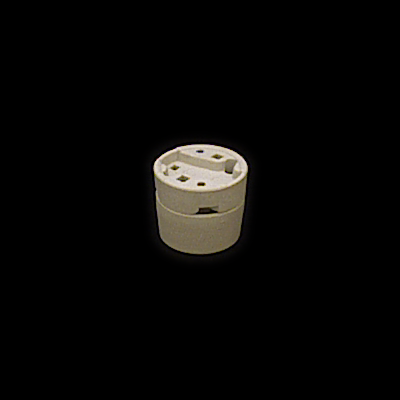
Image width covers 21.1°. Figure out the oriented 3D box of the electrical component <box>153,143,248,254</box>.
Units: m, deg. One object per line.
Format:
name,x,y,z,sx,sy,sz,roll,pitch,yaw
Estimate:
electrical component,0.000,0.000,0.638,0.055,0.047,0.055,1,31,0
